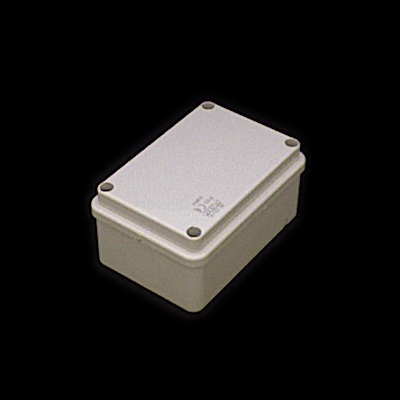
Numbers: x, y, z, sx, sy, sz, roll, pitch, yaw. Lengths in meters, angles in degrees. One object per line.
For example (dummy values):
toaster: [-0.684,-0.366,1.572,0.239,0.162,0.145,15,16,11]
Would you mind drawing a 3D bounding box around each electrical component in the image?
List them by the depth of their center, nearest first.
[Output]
electrical component: [0.000,0.000,0.630,0.078,0.057,0.113,27,48,26]
